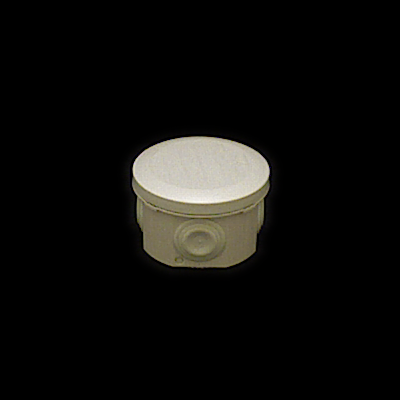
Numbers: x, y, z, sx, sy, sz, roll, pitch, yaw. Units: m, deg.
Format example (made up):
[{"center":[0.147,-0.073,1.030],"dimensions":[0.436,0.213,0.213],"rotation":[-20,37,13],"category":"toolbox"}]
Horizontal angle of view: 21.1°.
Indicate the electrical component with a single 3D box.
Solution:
[{"center":[0.000,0.000,0.634],"dimensions":[0.080,0.051,0.079],"rotation":[1,31,0],"category":"electrical component"}]
